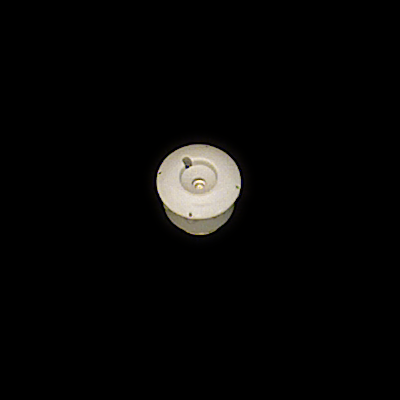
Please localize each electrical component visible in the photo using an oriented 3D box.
[{"bbox_3d":[0.000,0.000,0.633,0.048,0.048,0.062,0,-27,0],"label":"electrical component"}]
